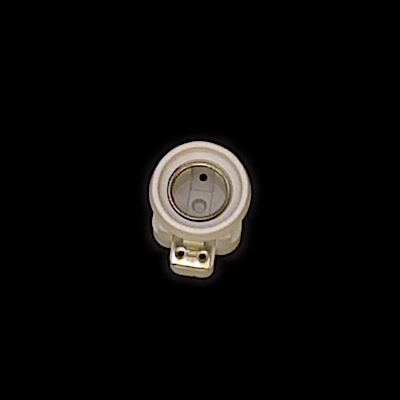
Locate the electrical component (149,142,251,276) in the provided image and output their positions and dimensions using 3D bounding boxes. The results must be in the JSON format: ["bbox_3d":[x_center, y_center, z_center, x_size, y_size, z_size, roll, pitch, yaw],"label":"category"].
[{"bbox_3d":[0.000,0.000,0.628,0.058,0.079,0.056,8,-17,2],"label":"electrical component"}]
